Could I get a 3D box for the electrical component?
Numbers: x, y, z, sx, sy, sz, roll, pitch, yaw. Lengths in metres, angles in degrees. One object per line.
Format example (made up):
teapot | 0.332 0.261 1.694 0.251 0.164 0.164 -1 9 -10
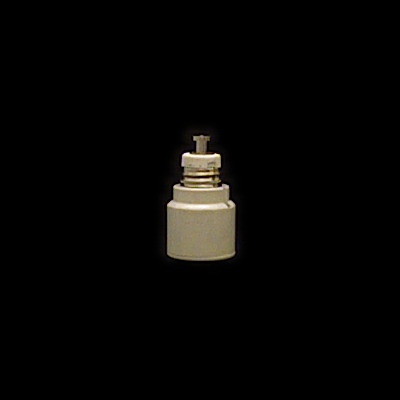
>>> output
electrical component | 0.000 0.000 0.641 0.040 0.079 0.040 0 11 0
